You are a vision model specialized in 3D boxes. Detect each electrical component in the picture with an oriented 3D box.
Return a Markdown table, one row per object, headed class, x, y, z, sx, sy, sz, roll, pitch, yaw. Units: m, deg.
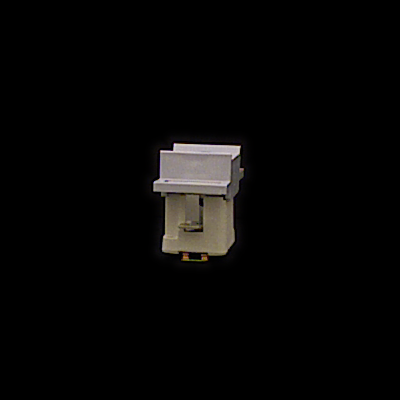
| class | x | y | z | sx | sy | sz | roll | pitch | yaw |
| --- | --- | --- | --- | --- | --- | --- | --- | --- | --- |
| electrical component | 0.000 | 0.000 | 0.641 | 0.042 | 0.064 | 0.080 | 4 | 10 | 9 |
